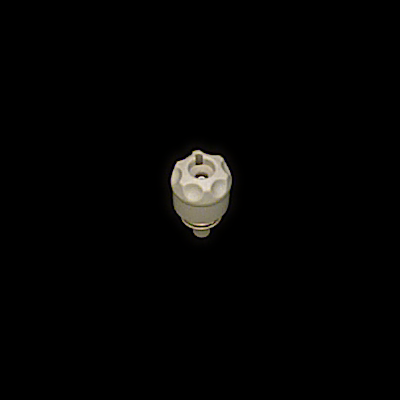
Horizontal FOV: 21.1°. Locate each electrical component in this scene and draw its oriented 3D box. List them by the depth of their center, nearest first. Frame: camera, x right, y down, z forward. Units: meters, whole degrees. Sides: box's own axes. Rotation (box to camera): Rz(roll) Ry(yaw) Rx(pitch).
[{"bbox_3d":[0.000,0.000,0.636,0.035,0.035,0.062,0,-37,0],"label":"electrical component"}]
